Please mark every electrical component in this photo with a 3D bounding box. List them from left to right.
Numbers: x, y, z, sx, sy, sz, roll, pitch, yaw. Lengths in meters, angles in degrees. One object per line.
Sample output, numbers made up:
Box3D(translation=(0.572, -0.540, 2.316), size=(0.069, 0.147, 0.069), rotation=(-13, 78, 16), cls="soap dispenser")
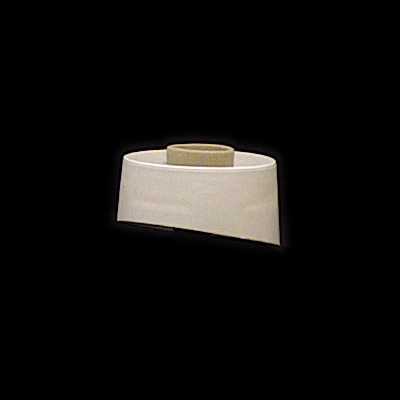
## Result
Box3D(translation=(0.000, 0.000, 0.643), size=(0.099, 0.064, 0.098), rotation=(1, 10, 0), cls="electrical component")
